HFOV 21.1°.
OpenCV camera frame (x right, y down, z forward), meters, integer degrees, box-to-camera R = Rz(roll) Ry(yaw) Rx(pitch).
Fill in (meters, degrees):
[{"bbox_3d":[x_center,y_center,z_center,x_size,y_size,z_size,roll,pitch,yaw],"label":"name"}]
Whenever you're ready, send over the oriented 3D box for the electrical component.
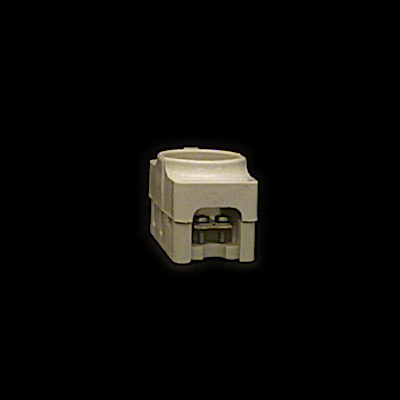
[{"bbox_3d":[0.000,0.000,0.652,0.050,0.056,0.088,-2,12,-13],"label":"electrical component"}]
